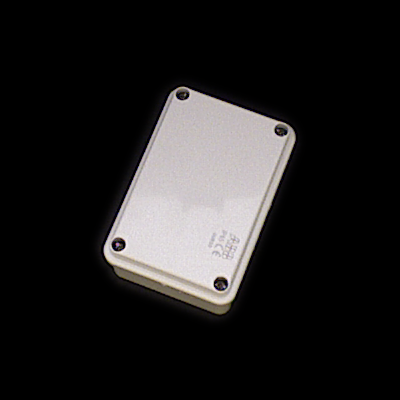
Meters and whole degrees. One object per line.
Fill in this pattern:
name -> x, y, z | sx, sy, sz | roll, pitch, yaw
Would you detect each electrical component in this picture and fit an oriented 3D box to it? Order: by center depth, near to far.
electrical component -> 0.000, 0.000, 0.626 | 0.078, 0.113, 0.057 | 20, -16, 6
